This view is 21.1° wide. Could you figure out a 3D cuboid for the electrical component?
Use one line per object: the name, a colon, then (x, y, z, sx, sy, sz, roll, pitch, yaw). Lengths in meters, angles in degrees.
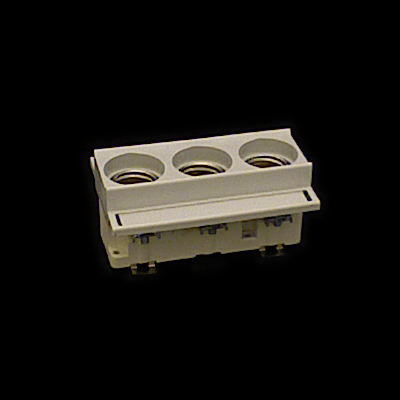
electrical component: (0.000, 0.000, 0.646, 0.121, 0.064, 0.077, -7, 34, -12)
